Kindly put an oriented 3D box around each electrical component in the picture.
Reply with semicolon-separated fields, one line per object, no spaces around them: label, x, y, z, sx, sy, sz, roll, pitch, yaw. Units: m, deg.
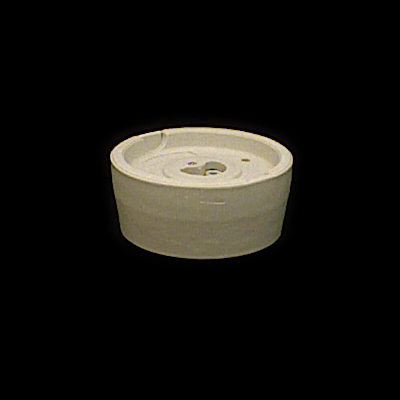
electrical component;0.000;0.000;0.646;0.108;0.061;0.106;2;22;0
